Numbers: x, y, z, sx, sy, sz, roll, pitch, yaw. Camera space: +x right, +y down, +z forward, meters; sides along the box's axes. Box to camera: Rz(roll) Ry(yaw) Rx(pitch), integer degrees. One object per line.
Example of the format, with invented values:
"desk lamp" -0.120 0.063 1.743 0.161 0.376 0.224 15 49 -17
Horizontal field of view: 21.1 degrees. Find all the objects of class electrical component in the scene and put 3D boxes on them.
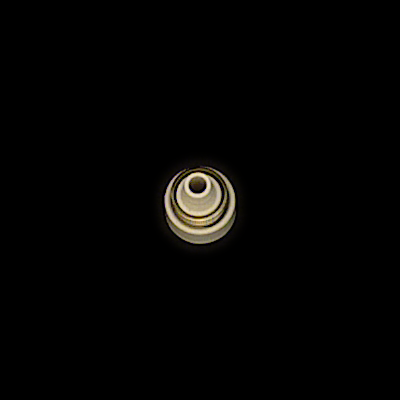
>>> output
"electrical component" 0.000 0.000 0.634 0.043 0.043 0.061 0 -17 1
